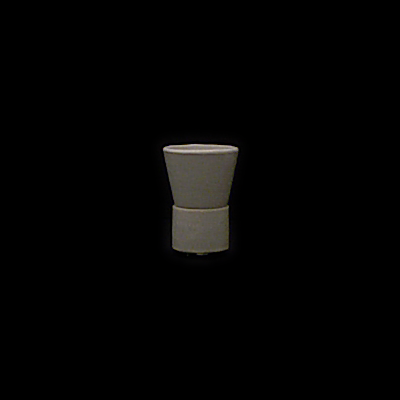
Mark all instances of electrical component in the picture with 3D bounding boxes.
[{"bbox_3d":[0.000,0.000,0.645,0.044,0.066,0.044,0,11,0],"label":"electrical component"}]
